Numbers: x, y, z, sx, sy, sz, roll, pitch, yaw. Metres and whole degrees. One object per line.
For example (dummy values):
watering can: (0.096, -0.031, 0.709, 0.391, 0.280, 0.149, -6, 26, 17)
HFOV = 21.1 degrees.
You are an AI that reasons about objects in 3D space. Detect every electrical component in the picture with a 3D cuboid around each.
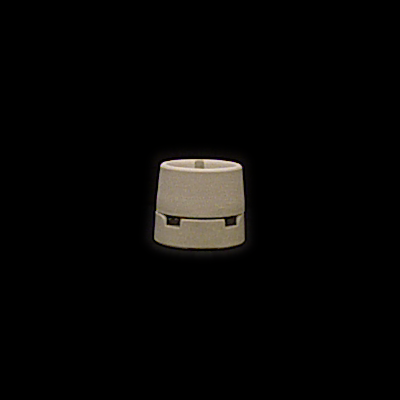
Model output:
electrical component: (0.000, 0.000, 0.648, 0.055, 0.047, 0.055, 1, 10, 0)
